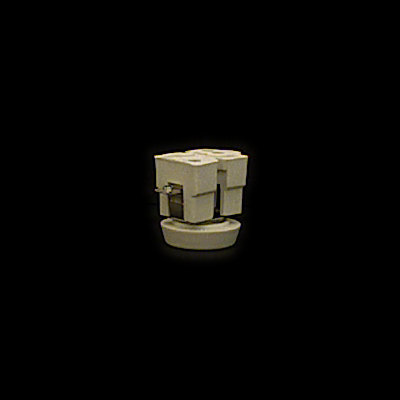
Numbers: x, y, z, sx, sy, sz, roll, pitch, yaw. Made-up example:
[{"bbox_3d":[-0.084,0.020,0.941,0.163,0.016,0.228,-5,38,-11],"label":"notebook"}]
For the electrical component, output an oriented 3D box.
[{"bbox_3d":[0.000,0.000,0.653,0.067,0.056,0.048,-11,18,-43],"label":"electrical component"}]
